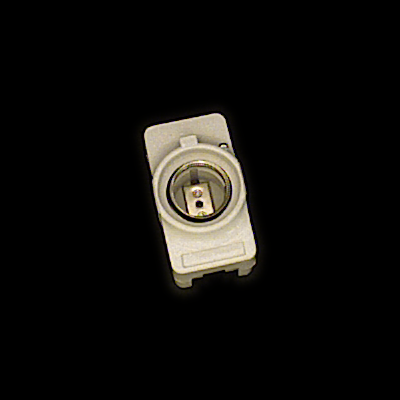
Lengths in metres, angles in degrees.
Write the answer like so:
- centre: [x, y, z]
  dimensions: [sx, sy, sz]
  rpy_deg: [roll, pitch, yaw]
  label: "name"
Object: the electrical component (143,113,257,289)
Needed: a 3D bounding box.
- centre: [0.000, 0.000, 0.636]
  dimensions: [0.050, 0.090, 0.055]
  rpy_deg: [-12, -16, -3]
  label: "electrical component"
